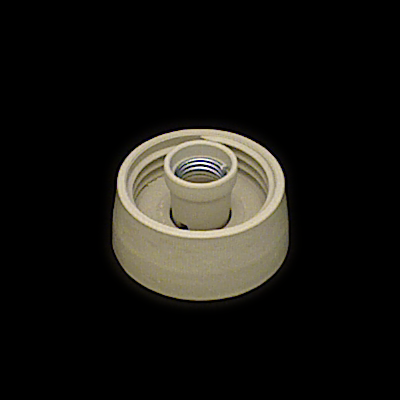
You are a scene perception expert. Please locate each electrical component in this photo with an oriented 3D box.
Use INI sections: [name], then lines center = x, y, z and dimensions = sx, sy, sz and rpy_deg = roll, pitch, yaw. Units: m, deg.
[electrical component]
center = 0.000, 0.000, 0.639
dimensions = 0.108, 0.061, 0.106
rpy_deg = 1, 42, 0
